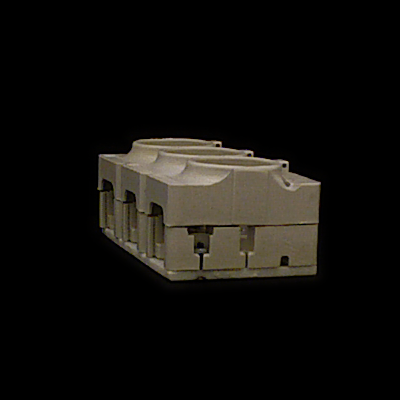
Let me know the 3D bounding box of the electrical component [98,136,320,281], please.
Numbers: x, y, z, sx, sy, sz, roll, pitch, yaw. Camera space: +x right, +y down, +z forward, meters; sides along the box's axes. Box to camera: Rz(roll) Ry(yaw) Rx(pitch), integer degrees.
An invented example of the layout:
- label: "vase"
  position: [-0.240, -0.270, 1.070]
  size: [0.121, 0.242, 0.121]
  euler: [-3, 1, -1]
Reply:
- label: "electrical component"
  position: [0.000, 0.000, 0.652]
  size: [0.089, 0.062, 0.148]
  euler: [-2, 11, -20]
